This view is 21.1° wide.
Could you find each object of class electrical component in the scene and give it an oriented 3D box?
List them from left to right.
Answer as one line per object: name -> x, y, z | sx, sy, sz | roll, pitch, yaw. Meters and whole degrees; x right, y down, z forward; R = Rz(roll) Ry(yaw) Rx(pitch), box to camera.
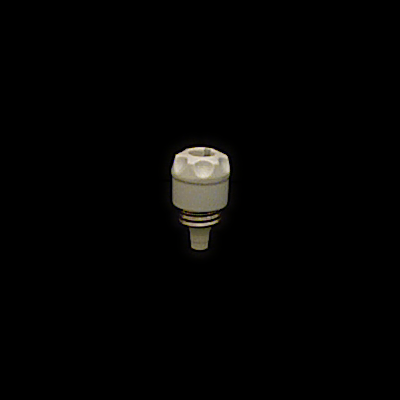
electrical component -> 0.000, 0.000, 0.647 | 0.035, 0.062, 0.034 | 1, 22, 0
